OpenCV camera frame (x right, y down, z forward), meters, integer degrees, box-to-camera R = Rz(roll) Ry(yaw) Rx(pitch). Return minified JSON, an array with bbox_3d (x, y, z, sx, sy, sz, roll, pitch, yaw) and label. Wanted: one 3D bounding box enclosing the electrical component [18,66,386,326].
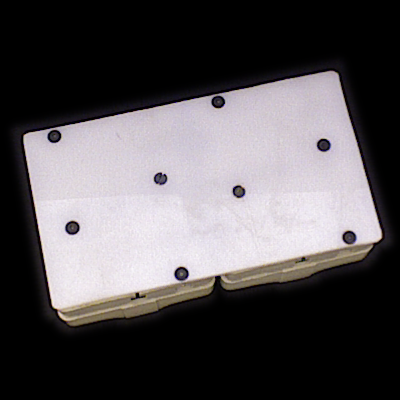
[{"bbox_3d":[0.000,0.000,0.625,0.186,0.106,0.060,-12,-17,-4],"label":"electrical component"}]
